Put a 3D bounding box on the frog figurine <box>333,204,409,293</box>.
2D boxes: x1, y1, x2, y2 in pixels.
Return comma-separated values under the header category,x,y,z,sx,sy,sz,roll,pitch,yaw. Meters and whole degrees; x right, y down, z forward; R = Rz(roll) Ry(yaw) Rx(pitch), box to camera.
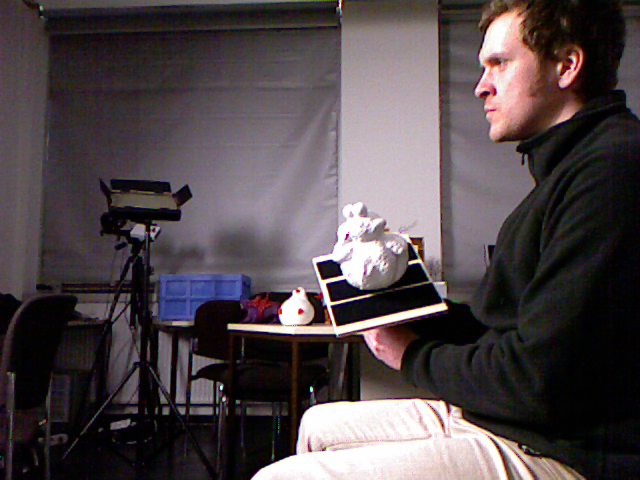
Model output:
category,x,y,z,sx,sy,sz,roll,pitch,yaw
frog figurine,0.093,0.014,0.930,0.138,0.156,0.126,1,44,7
